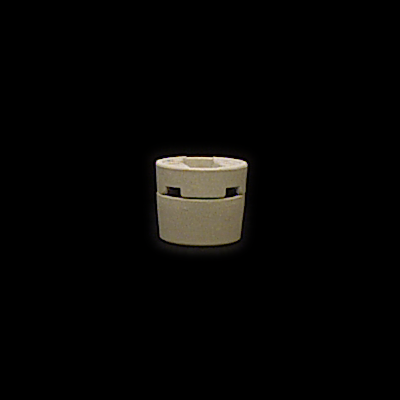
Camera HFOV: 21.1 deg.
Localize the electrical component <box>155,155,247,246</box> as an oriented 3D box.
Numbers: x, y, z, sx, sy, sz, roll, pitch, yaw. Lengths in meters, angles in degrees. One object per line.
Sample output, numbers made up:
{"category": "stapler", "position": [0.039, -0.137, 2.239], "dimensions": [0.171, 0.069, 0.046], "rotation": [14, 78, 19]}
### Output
{"category": "electrical component", "position": [0.000, 0.000, 0.647], "dimensions": [0.055, 0.047, 0.055], "rotation": [1, 11, 0]}
